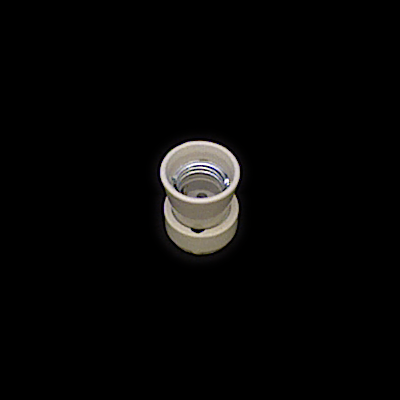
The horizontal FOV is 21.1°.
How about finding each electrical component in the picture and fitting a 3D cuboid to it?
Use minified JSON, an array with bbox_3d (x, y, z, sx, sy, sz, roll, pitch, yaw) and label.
[{"bbox_3d":[0.000,0.000,0.628,0.045,0.044,0.055,0,-38,0],"label":"electrical component"}]
